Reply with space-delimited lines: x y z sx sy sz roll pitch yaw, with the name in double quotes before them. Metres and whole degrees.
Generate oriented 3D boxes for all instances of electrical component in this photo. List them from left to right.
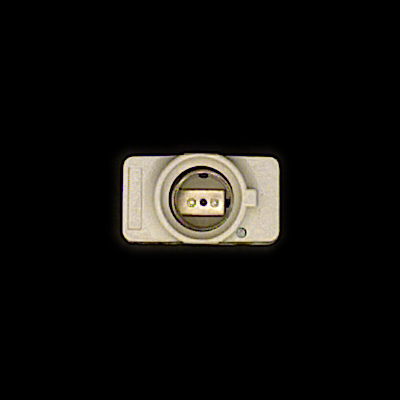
"electrical component" 0.000 0.000 0.637 0.089 0.050 0.055 0 -5 1
